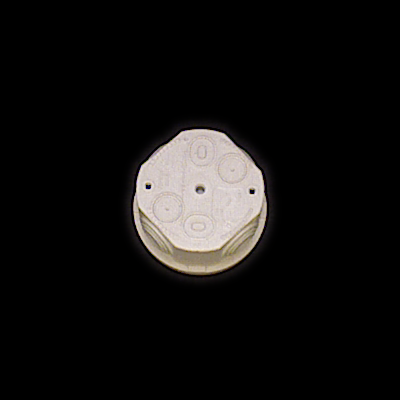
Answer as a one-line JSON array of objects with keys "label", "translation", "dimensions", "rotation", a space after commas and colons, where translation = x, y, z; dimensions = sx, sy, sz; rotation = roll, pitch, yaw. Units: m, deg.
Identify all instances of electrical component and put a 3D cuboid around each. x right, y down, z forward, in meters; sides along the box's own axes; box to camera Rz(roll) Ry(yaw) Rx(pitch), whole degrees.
[{"label": "electrical component", "translation": [0.000, 0.000, 0.632], "dimensions": [0.080, 0.080, 0.050], "rotation": [0, -17, -1]}]
